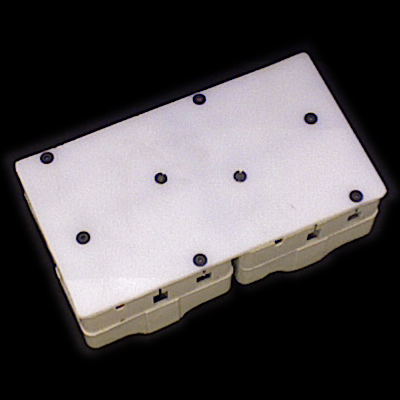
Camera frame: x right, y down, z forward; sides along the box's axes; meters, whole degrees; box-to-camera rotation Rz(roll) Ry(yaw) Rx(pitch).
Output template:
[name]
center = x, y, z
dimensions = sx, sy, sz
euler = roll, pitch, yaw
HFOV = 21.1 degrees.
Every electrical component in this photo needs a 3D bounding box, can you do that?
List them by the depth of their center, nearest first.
[electrical component]
center = 0.000, 0.000, 0.625
dimensions = 0.187, 0.105, 0.060
euler = -22, -25, -11
